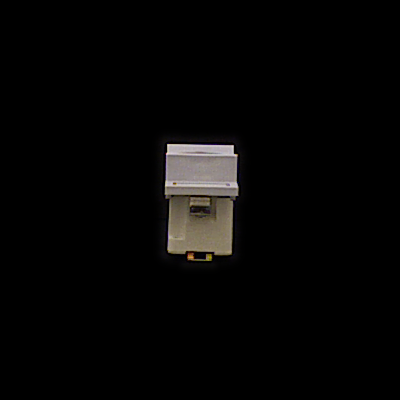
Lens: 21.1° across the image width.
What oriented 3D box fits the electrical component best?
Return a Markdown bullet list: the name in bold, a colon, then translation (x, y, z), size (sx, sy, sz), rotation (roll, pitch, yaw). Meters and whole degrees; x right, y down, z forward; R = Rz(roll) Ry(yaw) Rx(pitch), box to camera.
- **electrical component**: translation (0.000, 0.000, 0.646), size (0.042, 0.064, 0.080), rotation (0, 11, 0)
